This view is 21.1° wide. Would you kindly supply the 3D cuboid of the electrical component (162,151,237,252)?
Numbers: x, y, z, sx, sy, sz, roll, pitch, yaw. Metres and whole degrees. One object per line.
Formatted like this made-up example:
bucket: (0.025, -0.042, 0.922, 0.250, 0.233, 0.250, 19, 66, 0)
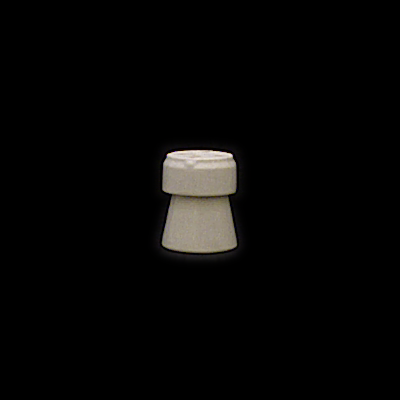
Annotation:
electrical component: (0.000, 0.000, 0.645, 0.045, 0.055, 0.044, 1, 11, 0)
